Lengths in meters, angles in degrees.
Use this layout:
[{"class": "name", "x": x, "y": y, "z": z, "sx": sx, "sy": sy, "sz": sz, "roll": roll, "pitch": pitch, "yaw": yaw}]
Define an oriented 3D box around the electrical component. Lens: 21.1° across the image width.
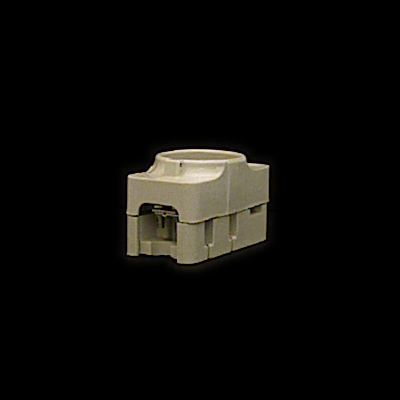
[{"class": "electrical component", "x": 0.000, "y": 0.000, "z": 0.652, "sx": 0.049, "sy": 0.056, "sz": 0.090, "roll": 8, "pitch": 13, "yaw": 31}]
